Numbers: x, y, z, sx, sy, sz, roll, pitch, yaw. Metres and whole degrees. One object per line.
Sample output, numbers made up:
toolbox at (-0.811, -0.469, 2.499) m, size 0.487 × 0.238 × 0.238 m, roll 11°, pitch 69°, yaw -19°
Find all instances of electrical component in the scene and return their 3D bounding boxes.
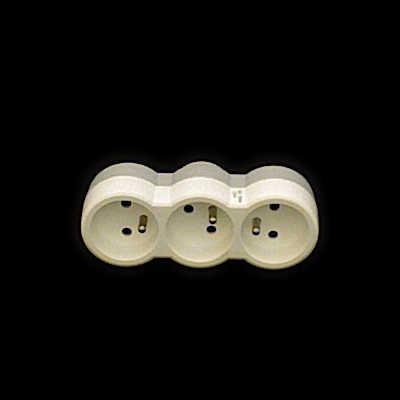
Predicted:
electrical component at (0.000, 0.000, 0.646) m, size 0.138 × 0.053 × 0.073 m, roll 1°, pitch 31°, yaw 0°
